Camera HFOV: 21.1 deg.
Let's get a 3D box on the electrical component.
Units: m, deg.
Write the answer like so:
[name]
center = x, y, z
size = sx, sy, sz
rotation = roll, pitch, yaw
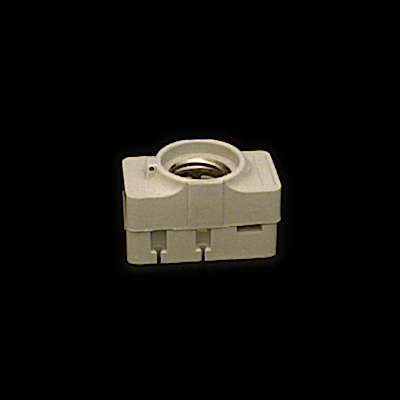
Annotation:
[electrical component]
center = 0.000, 0.000, 0.643
size = 0.090, 0.056, 0.049
rotation = -3, 32, -7
